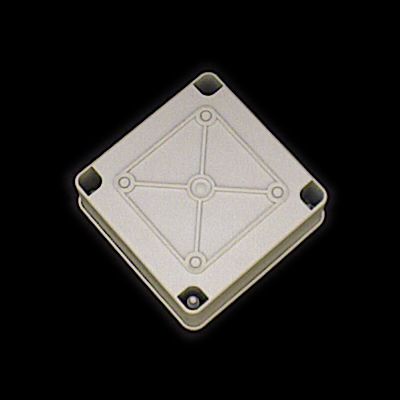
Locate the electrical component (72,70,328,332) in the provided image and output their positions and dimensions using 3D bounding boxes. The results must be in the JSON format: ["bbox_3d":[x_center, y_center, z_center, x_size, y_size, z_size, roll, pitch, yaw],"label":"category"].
[{"bbox_3d":[0.000,0.000,0.627,0.109,0.109,0.056,-40,-13,-11],"label":"electrical component"}]
